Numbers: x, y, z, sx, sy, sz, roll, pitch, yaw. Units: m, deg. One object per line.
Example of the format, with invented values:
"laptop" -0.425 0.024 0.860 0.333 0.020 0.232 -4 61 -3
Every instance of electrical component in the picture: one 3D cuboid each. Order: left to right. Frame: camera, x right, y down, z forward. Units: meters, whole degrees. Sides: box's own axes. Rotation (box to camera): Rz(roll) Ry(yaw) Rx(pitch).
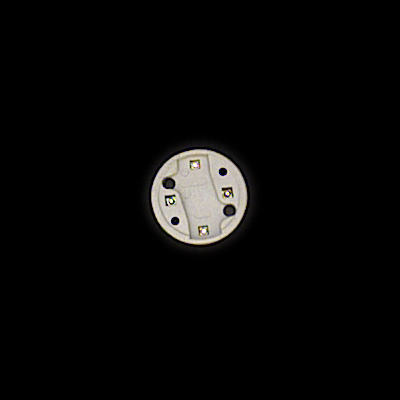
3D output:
"electrical component" 0.000 0.000 0.636 0.055 0.055 0.047 0 -6 0
